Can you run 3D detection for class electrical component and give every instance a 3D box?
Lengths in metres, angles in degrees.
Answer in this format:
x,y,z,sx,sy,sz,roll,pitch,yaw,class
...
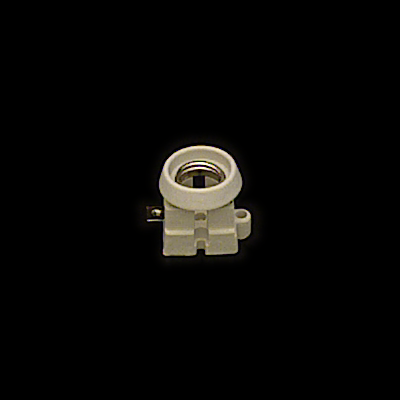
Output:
x,y,z,sx,sy,sz,roll,pitch,yaw,class
0.000,0.000,0.639,0.066,0.056,0.048,-3,41,-4,electrical component
